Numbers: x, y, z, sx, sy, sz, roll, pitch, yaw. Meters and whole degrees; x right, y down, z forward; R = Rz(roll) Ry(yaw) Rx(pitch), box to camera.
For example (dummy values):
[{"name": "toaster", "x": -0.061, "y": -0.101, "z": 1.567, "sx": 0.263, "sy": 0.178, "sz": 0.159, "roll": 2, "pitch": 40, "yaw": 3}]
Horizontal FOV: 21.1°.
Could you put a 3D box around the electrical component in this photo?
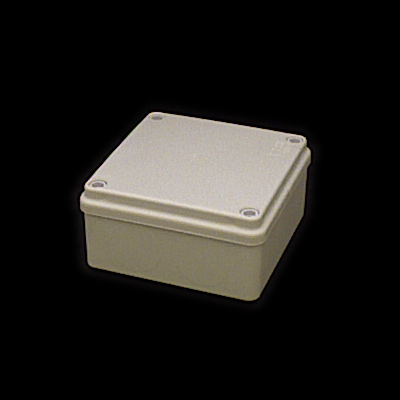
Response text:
[{"name": "electrical component", "x": 0.000, "y": 0.000, "z": 0.635, "sx": 0.108, "sy": 0.057, "sz": 0.108, "roll": 11, "pitch": 33, "yaw": 17}]
